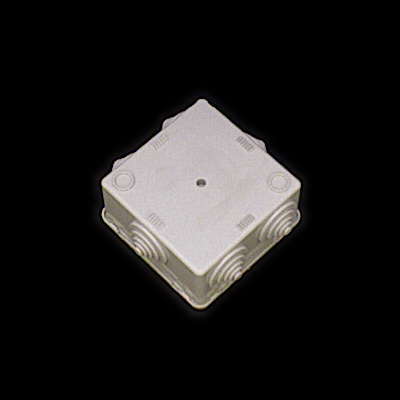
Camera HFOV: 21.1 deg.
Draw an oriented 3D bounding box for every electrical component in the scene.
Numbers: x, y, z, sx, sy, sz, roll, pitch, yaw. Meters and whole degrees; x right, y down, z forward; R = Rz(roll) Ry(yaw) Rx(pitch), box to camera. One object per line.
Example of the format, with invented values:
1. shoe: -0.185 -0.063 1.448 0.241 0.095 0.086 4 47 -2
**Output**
1. electrical component: 0.000 0.000 0.632 0.100 0.099 0.048 -41 -20 -19
